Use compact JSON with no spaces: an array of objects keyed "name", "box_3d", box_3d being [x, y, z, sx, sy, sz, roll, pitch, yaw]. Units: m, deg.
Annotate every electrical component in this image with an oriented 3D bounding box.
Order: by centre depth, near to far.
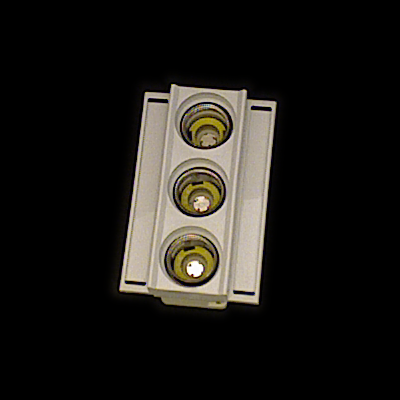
[{"name":"electrical component","box_3d":[0.000,0.000,0.637,0.078,0.122,0.063,5,-16,4]}]
